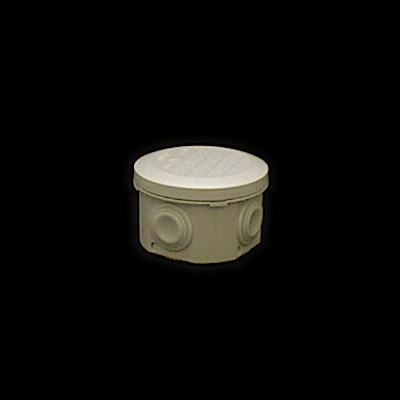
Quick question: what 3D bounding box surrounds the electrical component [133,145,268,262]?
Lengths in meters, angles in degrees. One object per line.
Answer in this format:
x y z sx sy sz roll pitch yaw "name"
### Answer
0.000 0.000 0.643 0.080 0.051 0.079 1 21 0 "electrical component"
